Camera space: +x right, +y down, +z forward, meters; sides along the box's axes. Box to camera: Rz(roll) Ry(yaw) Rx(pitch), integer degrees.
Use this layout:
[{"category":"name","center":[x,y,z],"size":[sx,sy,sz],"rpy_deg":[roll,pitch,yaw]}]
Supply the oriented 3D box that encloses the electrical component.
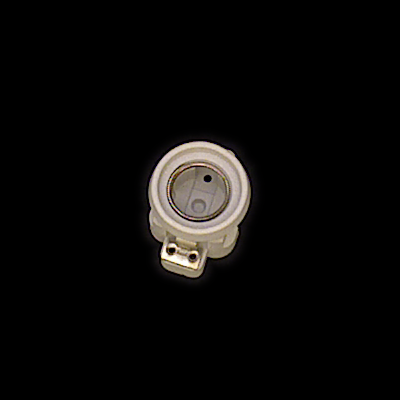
[{"category":"electrical component","center":[0.000,0.000,0.628],"size":[0.058,0.079,0.056],"rpy_deg":[17,-16,5]}]
